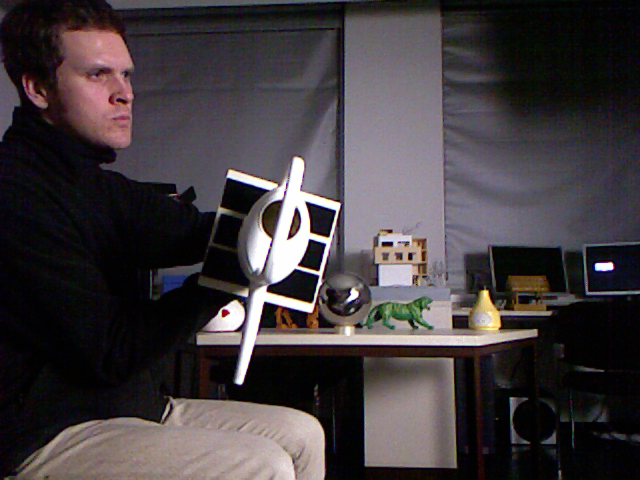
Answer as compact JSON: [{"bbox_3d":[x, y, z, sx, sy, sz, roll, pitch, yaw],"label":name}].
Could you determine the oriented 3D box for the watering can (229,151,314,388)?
[{"bbox_3d":[-0.075,0.034,0.802,0.104,0.351,0.224,16,-4,-1],"label":"watering can"}]
